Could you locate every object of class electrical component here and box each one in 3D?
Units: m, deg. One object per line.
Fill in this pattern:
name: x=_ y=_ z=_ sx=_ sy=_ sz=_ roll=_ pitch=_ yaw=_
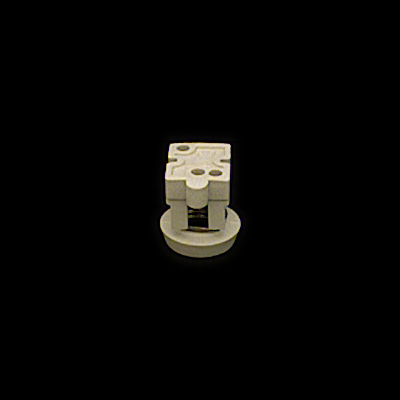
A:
electrical component: x=0.000 y=0.000 z=0.643 sx=0.048 sy=0.056 sz=0.066 roll=1 pitch=31 yaw=2
